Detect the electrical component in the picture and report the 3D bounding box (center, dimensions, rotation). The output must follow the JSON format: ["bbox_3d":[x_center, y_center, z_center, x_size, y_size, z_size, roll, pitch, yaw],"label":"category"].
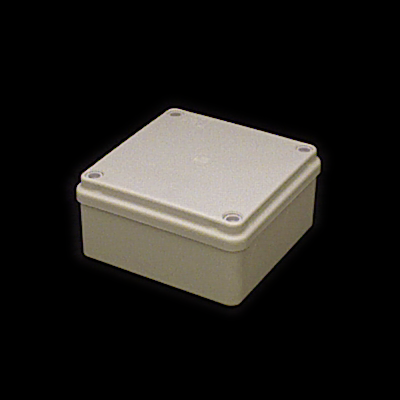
[{"bbox_3d":[0.000,0.000,0.634,0.108,0.057,0.108,17,36,25],"label":"electrical component"}]
